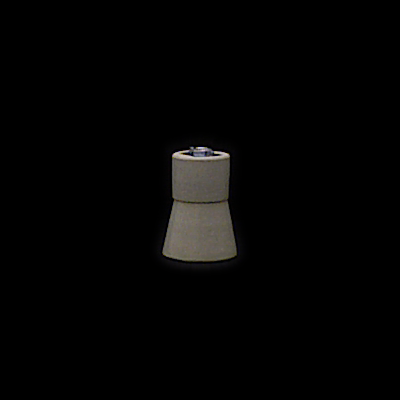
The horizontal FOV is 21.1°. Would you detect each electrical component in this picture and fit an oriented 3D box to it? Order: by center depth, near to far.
[{"bbox_3d":[0.000,0.000,0.643,0.044,0.066,0.044,1,12,0],"label":"electrical component"}]
